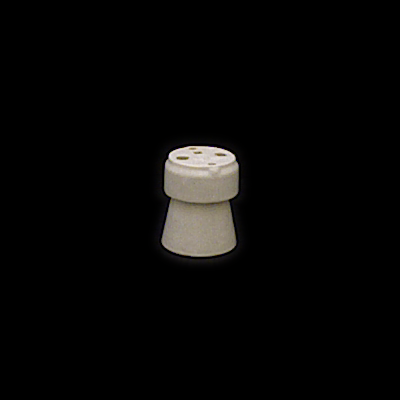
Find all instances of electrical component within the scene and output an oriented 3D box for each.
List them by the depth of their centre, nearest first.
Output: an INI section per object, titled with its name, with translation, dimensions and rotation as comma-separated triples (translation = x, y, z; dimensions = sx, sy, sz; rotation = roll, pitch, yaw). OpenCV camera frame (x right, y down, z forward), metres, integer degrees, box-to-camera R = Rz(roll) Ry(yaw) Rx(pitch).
[electrical component]
translation = 0.000, 0.000, 0.640
dimensions = 0.045, 0.056, 0.044
rotation = 1, 22, 0
